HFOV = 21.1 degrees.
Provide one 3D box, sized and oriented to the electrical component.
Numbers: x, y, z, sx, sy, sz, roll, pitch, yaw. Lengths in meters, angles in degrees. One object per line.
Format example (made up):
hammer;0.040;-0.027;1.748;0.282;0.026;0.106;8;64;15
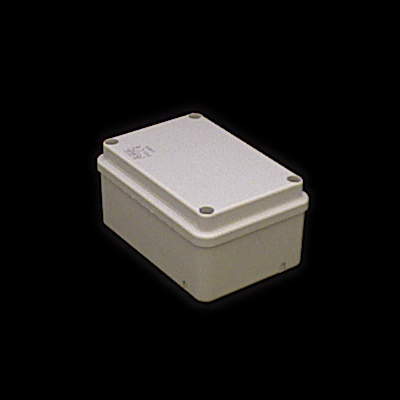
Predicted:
electrical component;0.000;0.000;0.633;0.078;0.058;0.112;-20;38;-31
